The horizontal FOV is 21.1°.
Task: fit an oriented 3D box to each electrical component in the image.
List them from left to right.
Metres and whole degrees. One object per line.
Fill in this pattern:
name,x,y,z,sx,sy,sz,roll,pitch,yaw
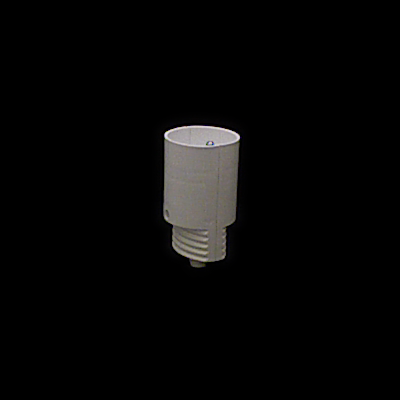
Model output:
electrical component,0.000,0.000,0.634,0.043,0.082,0.042,1,22,0
